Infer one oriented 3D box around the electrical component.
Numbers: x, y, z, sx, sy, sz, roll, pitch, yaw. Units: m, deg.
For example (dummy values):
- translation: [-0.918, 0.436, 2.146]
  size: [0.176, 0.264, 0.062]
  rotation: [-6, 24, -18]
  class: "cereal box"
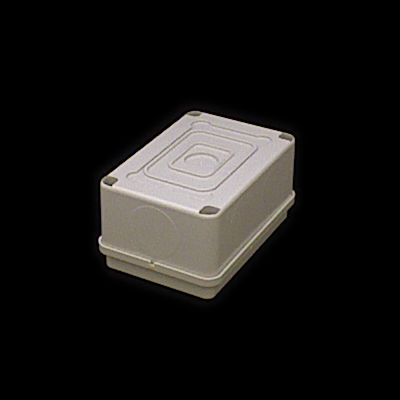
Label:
- translation: [0.000, 0.000, 0.635]
  size: [0.078, 0.058, 0.112]
  rotation: [17, 35, 23]
  class: "electrical component"
